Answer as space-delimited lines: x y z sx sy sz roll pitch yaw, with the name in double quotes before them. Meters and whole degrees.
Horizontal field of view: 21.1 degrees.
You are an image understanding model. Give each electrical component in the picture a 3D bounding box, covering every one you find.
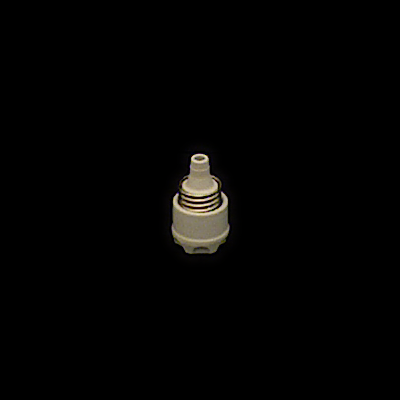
"electrical component" 0.000 0.000 0.647 0.035 0.062 0.034 -1 33 1
